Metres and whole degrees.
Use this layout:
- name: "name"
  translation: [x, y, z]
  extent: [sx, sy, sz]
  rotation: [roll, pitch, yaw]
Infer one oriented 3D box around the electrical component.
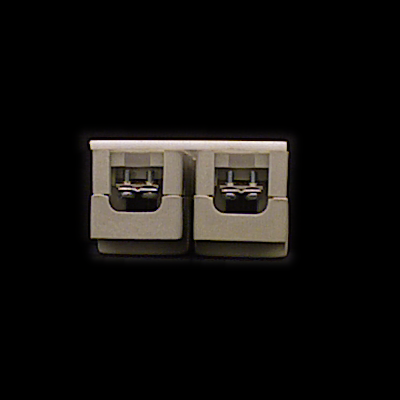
- name: "electrical component"
  translation: [0.000, 0.000, 0.650]
  extent: [0.105, 0.060, 0.186]
  rotation: [1, -1, 5]
